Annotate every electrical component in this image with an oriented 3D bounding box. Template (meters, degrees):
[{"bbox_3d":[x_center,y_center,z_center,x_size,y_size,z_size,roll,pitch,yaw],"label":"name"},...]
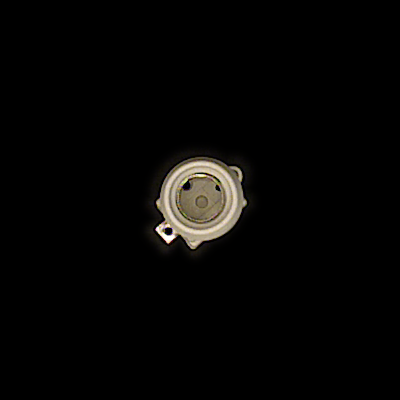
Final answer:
[{"bbox_3d":[0.000,0.000,0.638,0.066,0.048,0.055,-42,-7,-3],"label":"electrical component"}]
